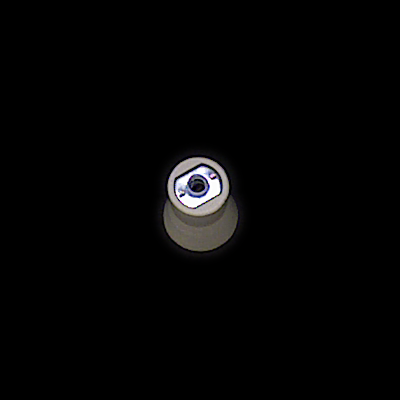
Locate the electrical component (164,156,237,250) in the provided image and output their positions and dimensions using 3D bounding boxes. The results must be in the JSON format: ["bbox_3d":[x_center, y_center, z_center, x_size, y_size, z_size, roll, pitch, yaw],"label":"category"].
[{"bbox_3d":[0.000,0.000,0.625,0.044,0.044,0.065,0,-18,1],"label":"electrical component"}]
